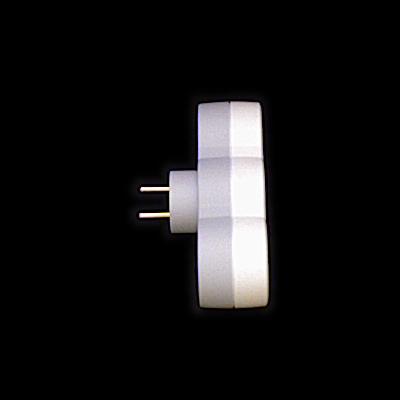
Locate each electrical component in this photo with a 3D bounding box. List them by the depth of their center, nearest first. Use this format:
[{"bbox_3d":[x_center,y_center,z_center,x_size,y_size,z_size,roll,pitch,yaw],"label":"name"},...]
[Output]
[{"bbox_3d":[0.000,0.000,0.629,0.074,0.138,0.052,-1,-36,1],"label":"electrical component"}]
